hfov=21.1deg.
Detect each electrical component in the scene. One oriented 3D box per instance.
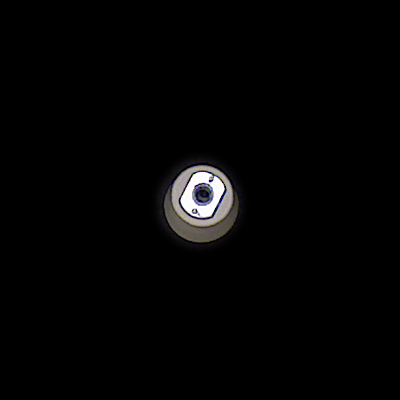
[{"bbox_3d":[0.000,0.000,0.625,0.044,0.044,0.065,0,-6,0],"label":"electrical component"}]
